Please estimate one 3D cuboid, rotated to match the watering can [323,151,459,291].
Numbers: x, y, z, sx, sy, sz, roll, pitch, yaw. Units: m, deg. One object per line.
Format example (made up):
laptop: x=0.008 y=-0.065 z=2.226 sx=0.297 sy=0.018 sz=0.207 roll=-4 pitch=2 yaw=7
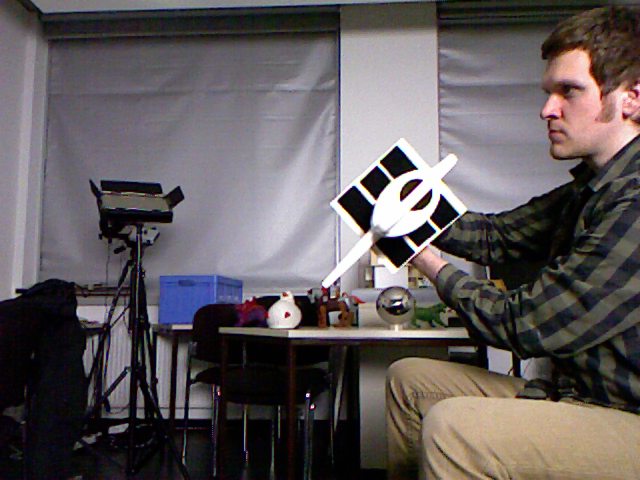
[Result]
watering can: x=0.132 y=-0.045 z=1.007 sx=0.348 sy=0.104 sz=0.226 roll=-44 pitch=1 yaw=3
